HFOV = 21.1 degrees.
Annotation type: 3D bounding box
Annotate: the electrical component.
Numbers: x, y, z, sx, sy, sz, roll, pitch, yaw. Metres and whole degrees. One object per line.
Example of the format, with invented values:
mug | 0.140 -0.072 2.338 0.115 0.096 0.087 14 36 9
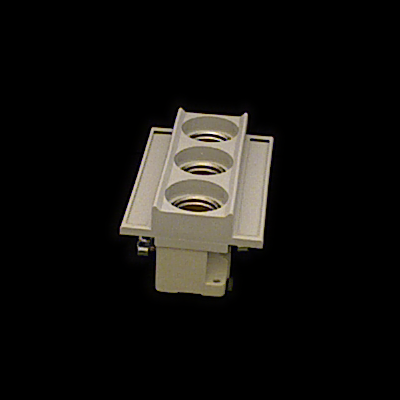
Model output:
electrical component | 0.000 0.000 0.647 0.078 0.064 0.119 5 32 4
